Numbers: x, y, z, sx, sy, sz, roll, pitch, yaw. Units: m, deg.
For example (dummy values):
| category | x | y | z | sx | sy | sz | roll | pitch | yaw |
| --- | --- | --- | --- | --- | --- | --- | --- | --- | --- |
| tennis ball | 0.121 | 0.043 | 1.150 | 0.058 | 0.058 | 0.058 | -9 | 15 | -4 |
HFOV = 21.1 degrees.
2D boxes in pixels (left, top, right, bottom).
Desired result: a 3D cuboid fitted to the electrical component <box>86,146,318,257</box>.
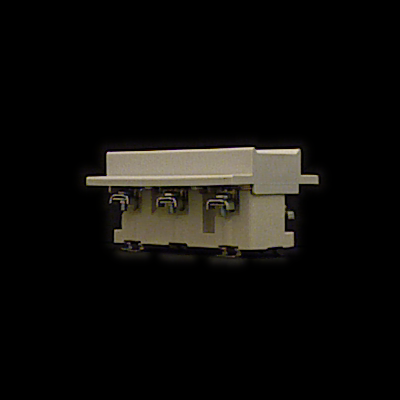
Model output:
| category | x | y | z | sx | sy | sz | roll | pitch | yaw |
| --- | --- | --- | --- | --- | --- | --- | --- | --- | --- |
| electrical component | 0.000 | 0.000 | 0.660 | 0.121 | 0.063 | 0.079 | 2 | 3 | 43 |
